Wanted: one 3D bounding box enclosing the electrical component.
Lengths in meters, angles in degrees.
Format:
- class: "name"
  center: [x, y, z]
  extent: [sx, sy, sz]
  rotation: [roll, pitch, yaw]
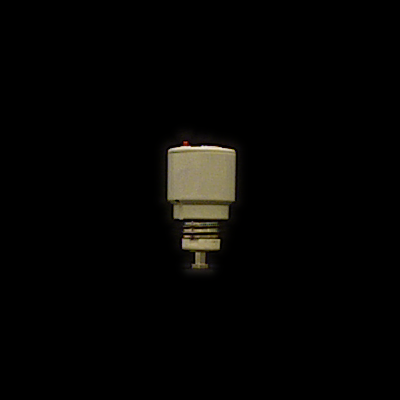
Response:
- class: "electrical component"
  center: [0.000, 0.000, 0.652]
  extent: [0.040, 0.078, 0.040]
  rotation: [1, 1, 0]
